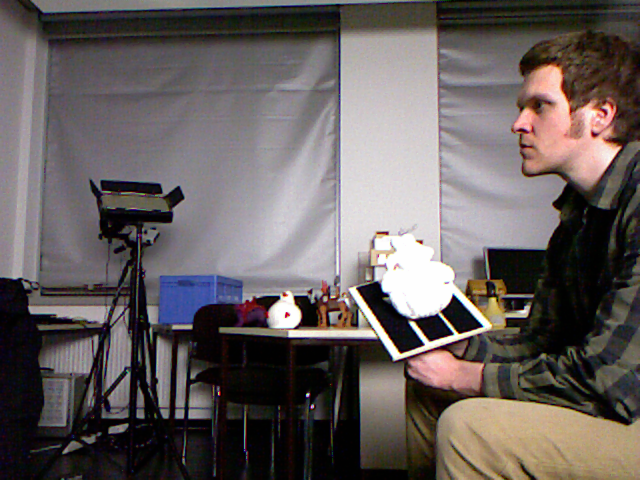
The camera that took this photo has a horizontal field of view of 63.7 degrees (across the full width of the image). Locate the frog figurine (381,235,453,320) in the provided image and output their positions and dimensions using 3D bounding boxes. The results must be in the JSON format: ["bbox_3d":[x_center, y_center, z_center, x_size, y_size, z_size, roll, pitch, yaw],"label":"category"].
[{"bbox_3d":[0.183,0.068,0.968,0.137,0.156,0.126,-2,40,1],"label":"frog figurine"}]
